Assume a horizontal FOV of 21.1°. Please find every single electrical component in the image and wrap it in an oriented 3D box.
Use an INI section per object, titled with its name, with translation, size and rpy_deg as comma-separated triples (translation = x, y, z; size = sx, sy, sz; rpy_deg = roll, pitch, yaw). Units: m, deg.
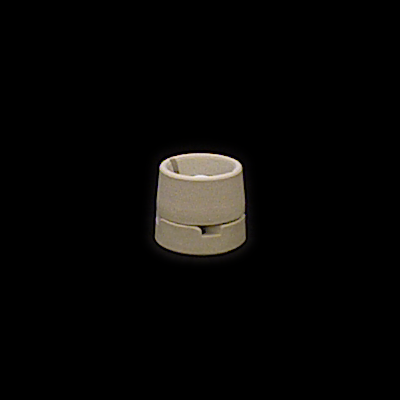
[electrical component]
translation = 0.000, 0.000, 0.642
size = 0.055, 0.047, 0.055
rpy_deg = 1, 20, 0
